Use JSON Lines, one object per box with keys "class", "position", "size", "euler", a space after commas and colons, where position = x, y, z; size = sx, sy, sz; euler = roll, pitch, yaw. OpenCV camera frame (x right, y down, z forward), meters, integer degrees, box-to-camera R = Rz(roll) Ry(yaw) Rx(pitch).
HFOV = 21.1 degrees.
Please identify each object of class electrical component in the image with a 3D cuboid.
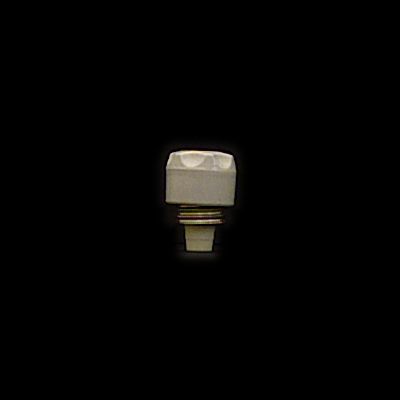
{"class": "electrical component", "position": [0.000, 0.000, 0.656], "size": [0.043, 0.062, 0.043], "euler": [2, 2, 0]}
